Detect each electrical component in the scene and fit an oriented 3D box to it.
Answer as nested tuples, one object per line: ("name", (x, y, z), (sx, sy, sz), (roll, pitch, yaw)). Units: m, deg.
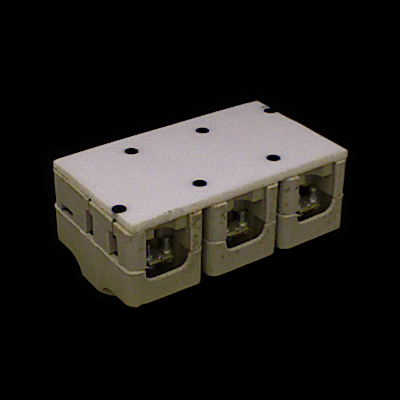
("electrical component", (0.000, 0.000, 0.637), (0.149, 0.063, 0.088), (-19, 36, -29))
